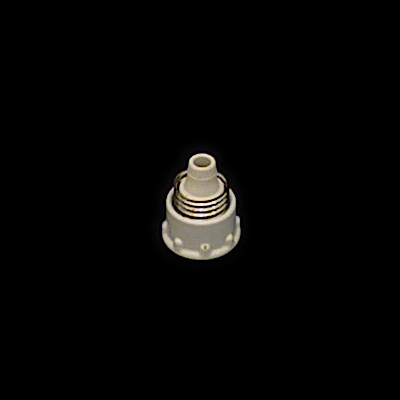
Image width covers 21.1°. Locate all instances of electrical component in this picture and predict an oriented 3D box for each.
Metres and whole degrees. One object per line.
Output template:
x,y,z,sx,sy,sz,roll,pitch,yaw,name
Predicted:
0.000,0.000,0.639,0.048,0.062,0.047,1,42,0,electrical component
